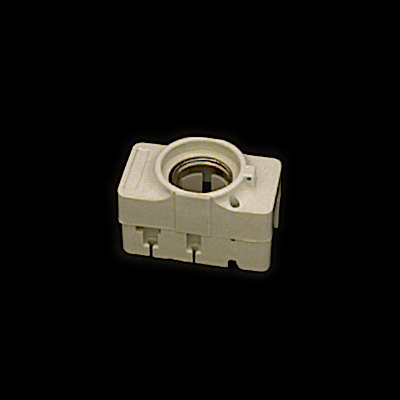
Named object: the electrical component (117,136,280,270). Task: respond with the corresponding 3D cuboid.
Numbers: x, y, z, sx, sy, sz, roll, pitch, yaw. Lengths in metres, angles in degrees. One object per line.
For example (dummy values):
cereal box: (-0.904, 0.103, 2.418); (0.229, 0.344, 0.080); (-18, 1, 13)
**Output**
electrical component: (0.000, 0.000, 0.639); (0.089, 0.056, 0.050); (7, 43, 7)
